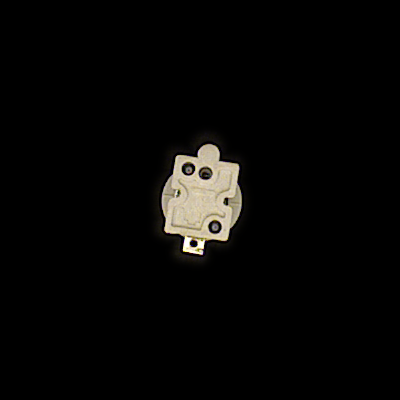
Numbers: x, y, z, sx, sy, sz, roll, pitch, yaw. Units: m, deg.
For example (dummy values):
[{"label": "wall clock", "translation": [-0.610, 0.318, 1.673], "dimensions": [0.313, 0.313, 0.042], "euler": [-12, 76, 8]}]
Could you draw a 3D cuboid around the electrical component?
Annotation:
[{"label": "electrical component", "translation": [0.000, 0.000, 0.639], "dimensions": [0.048, 0.066, 0.055], "euler": [9, -5, 1]}]
